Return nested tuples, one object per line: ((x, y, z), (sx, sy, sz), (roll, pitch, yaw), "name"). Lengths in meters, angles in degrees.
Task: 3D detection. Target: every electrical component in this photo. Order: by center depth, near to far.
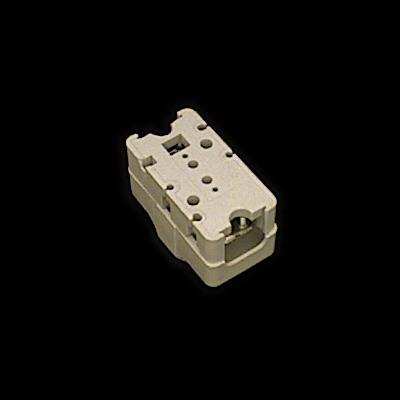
((0.000, 0.000, 0.636), (0.050, 0.089, 0.056), (-30, -32, -20), "electrical component")
